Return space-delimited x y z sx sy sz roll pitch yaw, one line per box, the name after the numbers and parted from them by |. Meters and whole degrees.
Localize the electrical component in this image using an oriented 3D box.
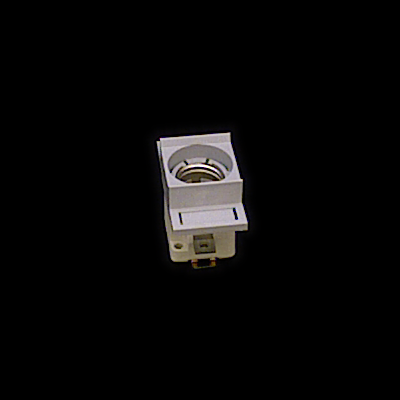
0.000 0.000 0.627 0.042 0.064 0.080 -4 42 -7 | electrical component
